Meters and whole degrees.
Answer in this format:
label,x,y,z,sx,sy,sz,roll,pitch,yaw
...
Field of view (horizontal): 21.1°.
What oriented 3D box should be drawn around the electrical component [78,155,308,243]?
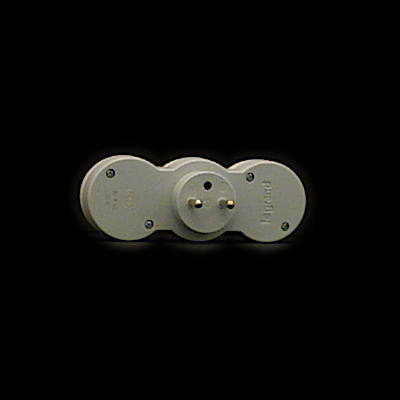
label,x,y,z,sx,sy,sz,roll,pitch,yaw
electrical component,0.000,0.000,0.653,0.139,0.052,0.073,1,2,-15
